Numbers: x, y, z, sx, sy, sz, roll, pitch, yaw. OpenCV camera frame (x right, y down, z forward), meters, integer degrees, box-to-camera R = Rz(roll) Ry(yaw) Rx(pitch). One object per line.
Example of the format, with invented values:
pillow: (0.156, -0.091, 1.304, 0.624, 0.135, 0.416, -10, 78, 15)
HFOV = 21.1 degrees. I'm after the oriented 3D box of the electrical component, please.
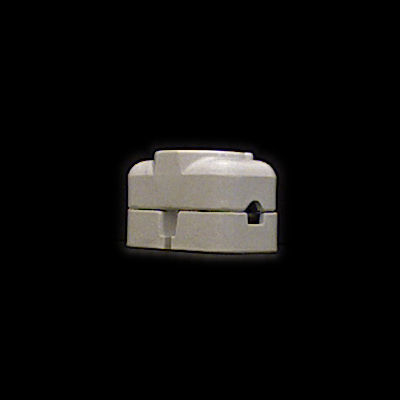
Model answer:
electrical component: (0.000, 0.000, 0.658, 0.054, 0.059, 0.094, -1, 2, -44)
